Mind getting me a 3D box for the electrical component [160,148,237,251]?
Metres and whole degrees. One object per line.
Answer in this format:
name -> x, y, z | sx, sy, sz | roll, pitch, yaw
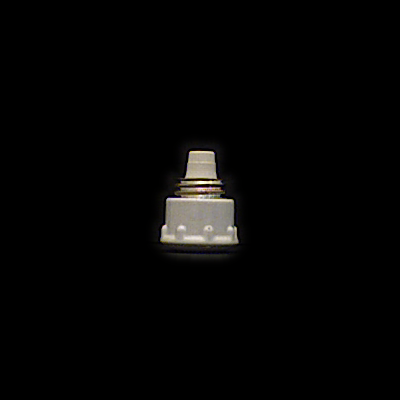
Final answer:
electrical component -> 0.000, 0.000, 0.658 | 0.048, 0.062, 0.048 | 2, 1, 1
